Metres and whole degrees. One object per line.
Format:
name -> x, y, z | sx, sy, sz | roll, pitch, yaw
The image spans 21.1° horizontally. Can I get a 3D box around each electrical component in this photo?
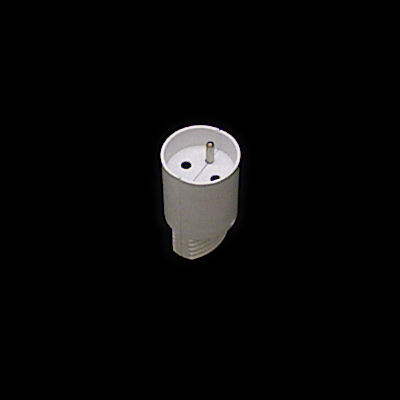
electrical component -> 0.000, 0.000, 0.620 | 0.043, 0.043, 0.081 | 0, -38, -1
